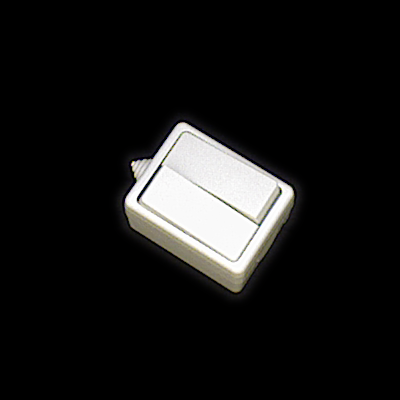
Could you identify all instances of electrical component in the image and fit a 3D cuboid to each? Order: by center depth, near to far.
[{"bbox_3d":[0.000,0.000,0.626,0.096,0.062,0.060,32,-14,9],"label":"electrical component"}]
